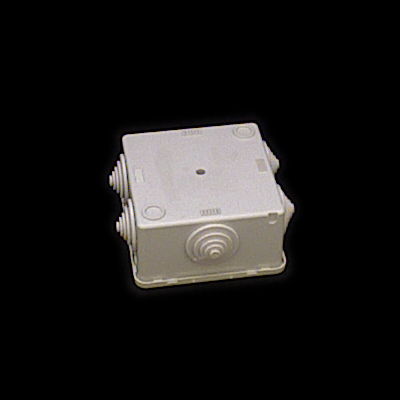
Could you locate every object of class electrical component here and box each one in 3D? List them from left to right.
[{"bbox_3d":[0.000,0.000,0.633,0.100,0.049,0.099,-6,43,-7],"label":"electrical component"}]
